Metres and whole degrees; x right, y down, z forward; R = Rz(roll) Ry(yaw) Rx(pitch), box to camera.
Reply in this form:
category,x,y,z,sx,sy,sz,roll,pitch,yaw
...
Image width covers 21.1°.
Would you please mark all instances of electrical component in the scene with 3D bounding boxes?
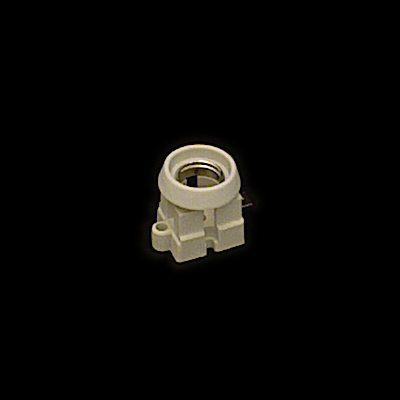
category,x,y,z,sx,sy,sz,roll,pitch,yaw
electrical component,0.000,0.000,0.641,0.067,0.056,0.048,-16,47,-18
